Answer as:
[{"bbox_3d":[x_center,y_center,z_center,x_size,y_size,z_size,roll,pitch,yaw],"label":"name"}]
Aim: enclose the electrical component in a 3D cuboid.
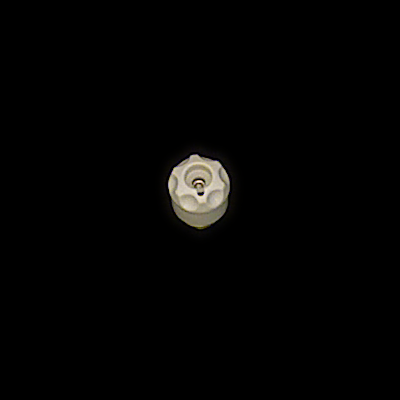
[{"bbox_3d":[0.000,0.000,0.632,0.035,0.035,0.061,0,-26,0],"label":"electrical component"}]
